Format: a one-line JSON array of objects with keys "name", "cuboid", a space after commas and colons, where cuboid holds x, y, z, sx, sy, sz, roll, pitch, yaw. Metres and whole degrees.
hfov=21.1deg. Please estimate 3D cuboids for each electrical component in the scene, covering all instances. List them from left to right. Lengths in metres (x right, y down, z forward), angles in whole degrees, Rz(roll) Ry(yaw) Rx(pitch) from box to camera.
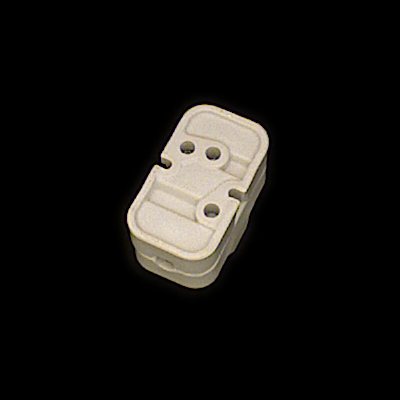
[{"name": "electrical component", "cuboid": [0.000, 0.000, 0.634, 0.053, 0.095, 0.059, 23, -24, 12]}]
